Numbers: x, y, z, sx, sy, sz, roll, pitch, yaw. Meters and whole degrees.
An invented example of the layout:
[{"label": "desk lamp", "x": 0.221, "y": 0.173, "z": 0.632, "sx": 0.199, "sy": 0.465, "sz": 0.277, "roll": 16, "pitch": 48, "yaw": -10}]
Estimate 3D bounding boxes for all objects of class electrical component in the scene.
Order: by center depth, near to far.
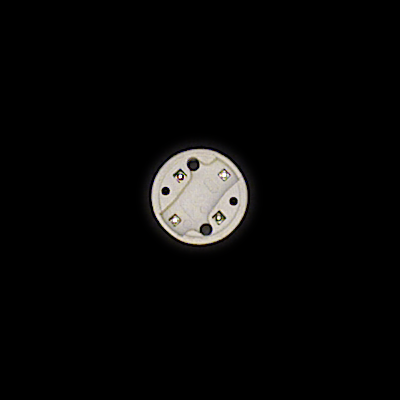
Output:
[{"label": "electrical component", "x": 0.000, "y": 0.000, "z": 0.635, "sx": 0.055, "sy": 0.056, "sz": 0.047, "roll": 0, "pitch": -7, "yaw": 0}]
